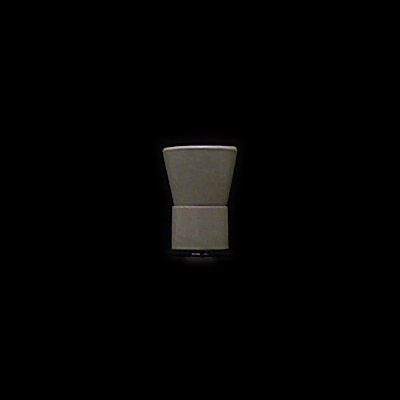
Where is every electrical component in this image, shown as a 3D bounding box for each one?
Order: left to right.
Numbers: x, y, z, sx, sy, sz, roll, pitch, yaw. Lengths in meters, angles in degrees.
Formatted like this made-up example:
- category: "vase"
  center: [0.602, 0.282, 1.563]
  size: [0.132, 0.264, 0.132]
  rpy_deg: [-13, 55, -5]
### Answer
- category: "electrical component"
  center: [0.000, 0.000, 0.649]
  size: [0.044, 0.065, 0.044]
  rpy_deg: [0, 1, 0]
